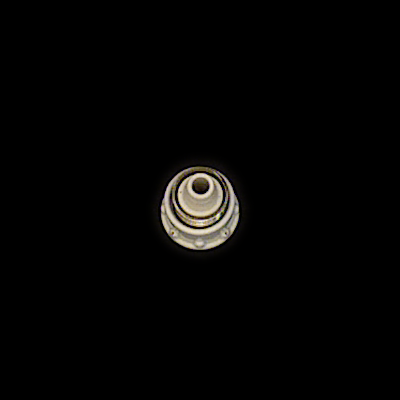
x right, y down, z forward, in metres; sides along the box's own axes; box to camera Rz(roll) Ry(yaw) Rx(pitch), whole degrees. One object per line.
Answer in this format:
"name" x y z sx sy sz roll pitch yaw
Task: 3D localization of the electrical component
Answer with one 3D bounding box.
"electrical component" 0.000 0.000 0.633 0.048 0.048 0.061 0 -16 -1
